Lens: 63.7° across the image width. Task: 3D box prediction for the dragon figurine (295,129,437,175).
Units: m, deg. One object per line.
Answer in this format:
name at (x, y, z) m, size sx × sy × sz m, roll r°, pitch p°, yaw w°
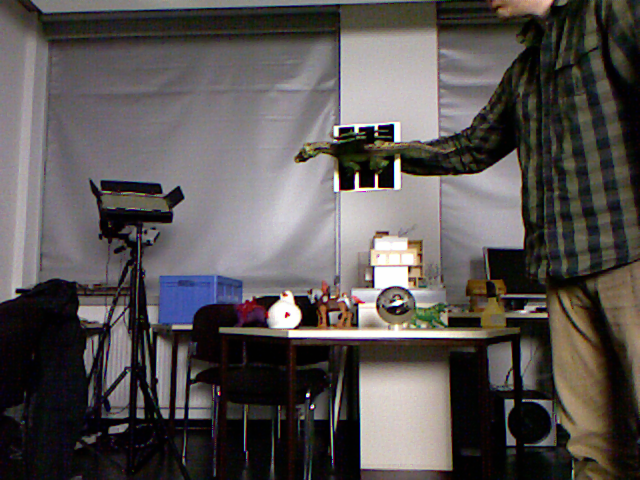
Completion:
dragon figurine at (0.132, -0.266, 1.467) m, size 0.410 × 0.122 × 0.242 m, roll -7°, pitch -2°, yaw 7°
